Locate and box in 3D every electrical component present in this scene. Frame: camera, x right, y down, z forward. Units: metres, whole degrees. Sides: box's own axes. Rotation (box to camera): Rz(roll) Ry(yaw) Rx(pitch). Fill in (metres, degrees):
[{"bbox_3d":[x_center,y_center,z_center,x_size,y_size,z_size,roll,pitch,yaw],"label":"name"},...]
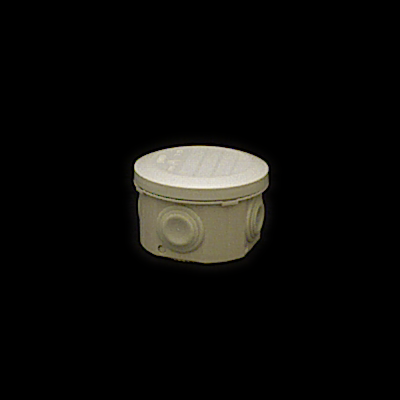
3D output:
[{"bbox_3d":[0.000,0.000,0.643,0.080,0.051,0.079,1,21,0],"label":"electrical component"}]
